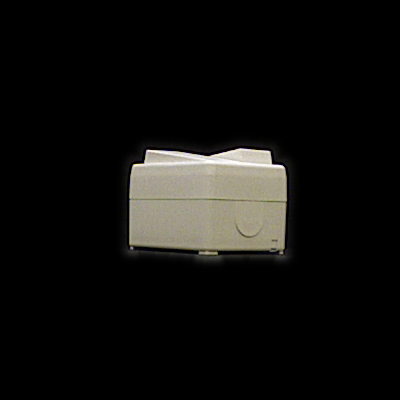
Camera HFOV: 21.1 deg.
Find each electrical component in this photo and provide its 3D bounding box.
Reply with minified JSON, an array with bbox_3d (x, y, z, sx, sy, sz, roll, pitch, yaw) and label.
[{"bbox_3d":[0.000,0.000,0.652,0.062,0.061,0.096,1,0,-38],"label":"electrical component"}]
